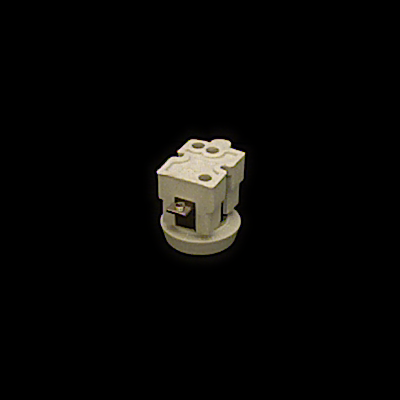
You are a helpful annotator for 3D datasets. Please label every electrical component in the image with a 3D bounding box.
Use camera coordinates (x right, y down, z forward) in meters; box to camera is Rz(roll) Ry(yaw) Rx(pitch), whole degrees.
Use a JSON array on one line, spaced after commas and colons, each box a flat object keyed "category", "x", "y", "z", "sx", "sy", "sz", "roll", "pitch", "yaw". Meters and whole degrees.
[{"category": "electrical component", "x": 0.000, "y": 0.000, "z": 0.644, "sx": 0.048, "sy": 0.056, "sz": 0.066, "roll": 17, "pitch": 37, "yaw": 22}]
